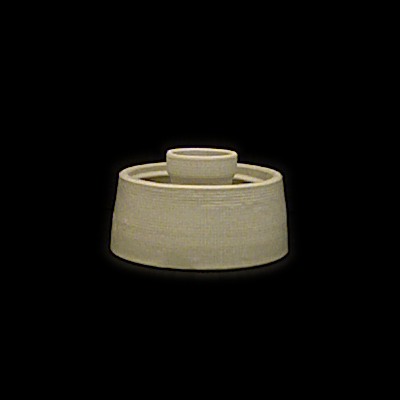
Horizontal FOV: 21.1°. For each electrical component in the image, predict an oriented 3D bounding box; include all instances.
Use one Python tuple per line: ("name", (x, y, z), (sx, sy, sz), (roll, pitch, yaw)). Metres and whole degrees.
("electrical component", (0.000, 0.000, 0.649), (0.108, 0.061, 0.107), (1, 11, 0))
